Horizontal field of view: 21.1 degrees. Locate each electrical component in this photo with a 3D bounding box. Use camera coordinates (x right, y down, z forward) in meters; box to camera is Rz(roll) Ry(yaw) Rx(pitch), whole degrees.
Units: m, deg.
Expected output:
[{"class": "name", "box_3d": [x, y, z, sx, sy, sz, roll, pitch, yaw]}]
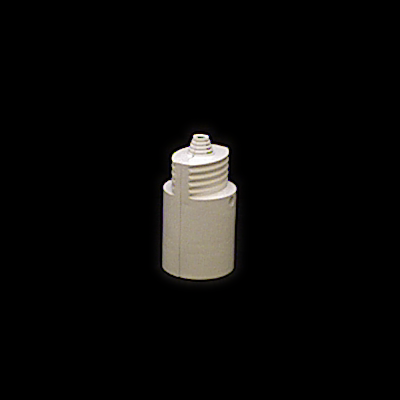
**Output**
[{"class": "electrical component", "box_3d": [0.000, 0.000, 0.634, 0.043, 0.082, 0.042, 1, 21, 0]}]
